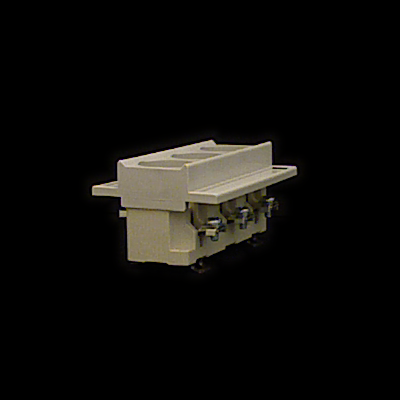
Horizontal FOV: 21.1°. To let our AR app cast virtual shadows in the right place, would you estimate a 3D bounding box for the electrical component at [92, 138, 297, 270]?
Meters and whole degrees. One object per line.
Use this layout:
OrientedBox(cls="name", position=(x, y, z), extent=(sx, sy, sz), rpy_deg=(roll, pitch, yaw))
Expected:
OrientedBox(cls="electrical component", position=(0.000, 0.000, 0.656), extent=(0.078, 0.063, 0.121), rpy_deg=(5, 11, 26))
